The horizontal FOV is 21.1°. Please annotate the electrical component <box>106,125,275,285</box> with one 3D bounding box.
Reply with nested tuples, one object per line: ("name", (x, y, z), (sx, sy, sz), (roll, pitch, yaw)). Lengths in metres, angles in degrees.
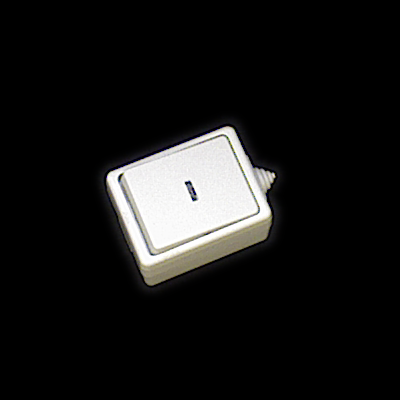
("electrical component", (0.000, 0.000, 0.626), (0.096, 0.062, 0.060), (-22, -16, -7))
